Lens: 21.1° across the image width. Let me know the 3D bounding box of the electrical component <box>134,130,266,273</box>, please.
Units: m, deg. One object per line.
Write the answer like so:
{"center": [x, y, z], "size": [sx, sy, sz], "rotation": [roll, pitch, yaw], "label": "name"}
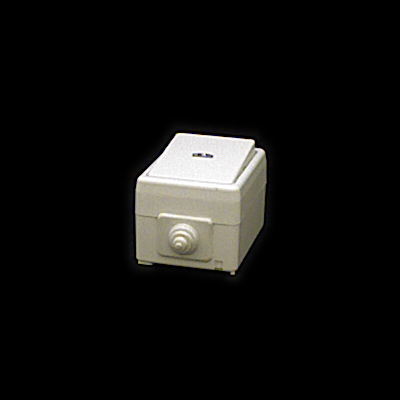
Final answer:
{"center": [0.000, 0.000, 0.637], "size": [0.061, 0.061, 0.095], "rotation": [6, 21, 13], "label": "electrical component"}
